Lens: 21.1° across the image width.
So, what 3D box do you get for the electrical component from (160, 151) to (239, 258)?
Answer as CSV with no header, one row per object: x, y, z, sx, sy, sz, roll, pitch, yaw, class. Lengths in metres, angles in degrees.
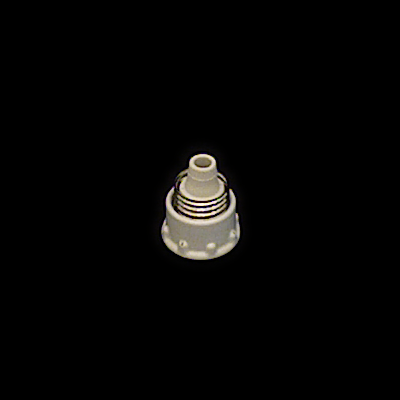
0.000,0.000,0.639,0.048,0.062,0.047,1,42,-1,electrical component
